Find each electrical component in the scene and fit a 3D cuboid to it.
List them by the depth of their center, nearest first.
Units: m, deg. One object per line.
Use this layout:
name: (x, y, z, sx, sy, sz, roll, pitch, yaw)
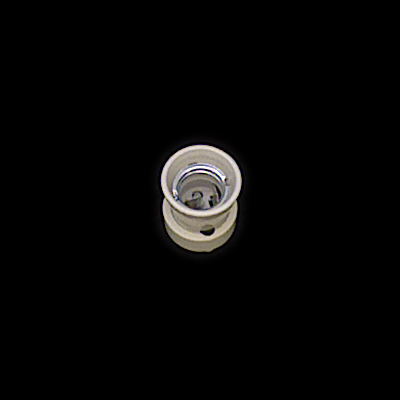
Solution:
electrical component: (0.000, 0.000, 0.629, 0.045, 0.045, 0.055, 0, -27, -1)
